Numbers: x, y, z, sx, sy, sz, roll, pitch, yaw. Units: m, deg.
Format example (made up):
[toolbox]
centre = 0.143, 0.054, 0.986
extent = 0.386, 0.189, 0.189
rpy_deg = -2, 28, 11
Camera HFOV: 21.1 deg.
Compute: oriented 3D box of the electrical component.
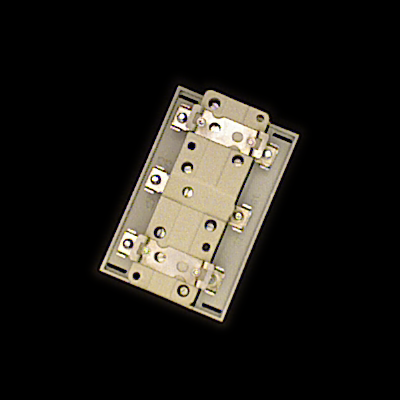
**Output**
[electrical component]
centre = 0.000, 0.000, 0.634
extent = 0.079, 0.122, 0.063
rpy_deg = 22, -5, 2
